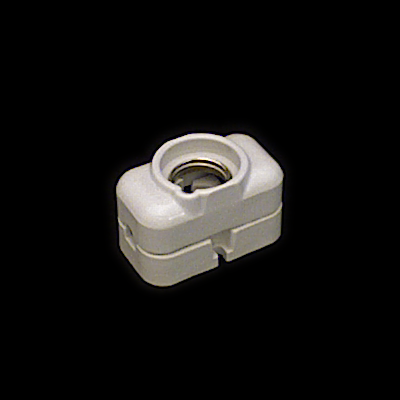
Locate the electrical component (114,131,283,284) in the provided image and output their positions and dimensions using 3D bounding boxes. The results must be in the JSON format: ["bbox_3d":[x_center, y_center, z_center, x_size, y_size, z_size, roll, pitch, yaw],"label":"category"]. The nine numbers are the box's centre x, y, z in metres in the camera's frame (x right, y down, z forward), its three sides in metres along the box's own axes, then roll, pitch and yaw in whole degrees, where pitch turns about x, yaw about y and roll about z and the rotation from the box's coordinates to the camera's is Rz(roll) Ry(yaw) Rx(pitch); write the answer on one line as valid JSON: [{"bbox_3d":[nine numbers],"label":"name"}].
[{"bbox_3d":[0.000,0.000,0.637,0.095,0.060,0.053,-21,46,-22],"label":"electrical component"}]
